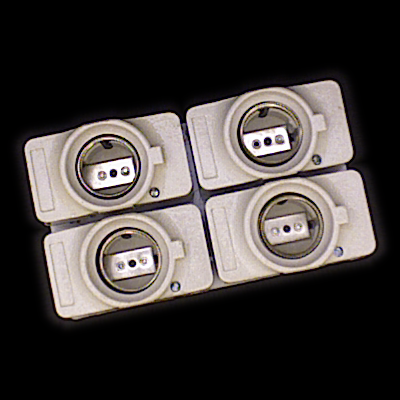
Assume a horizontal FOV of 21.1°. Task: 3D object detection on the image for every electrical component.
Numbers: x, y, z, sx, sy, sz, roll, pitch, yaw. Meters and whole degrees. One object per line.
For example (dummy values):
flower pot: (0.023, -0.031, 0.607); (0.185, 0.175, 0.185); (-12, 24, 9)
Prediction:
electrical component: (0.000, 0.000, 0.626); (0.186, 0.106, 0.060); (-12, -7, -2)
